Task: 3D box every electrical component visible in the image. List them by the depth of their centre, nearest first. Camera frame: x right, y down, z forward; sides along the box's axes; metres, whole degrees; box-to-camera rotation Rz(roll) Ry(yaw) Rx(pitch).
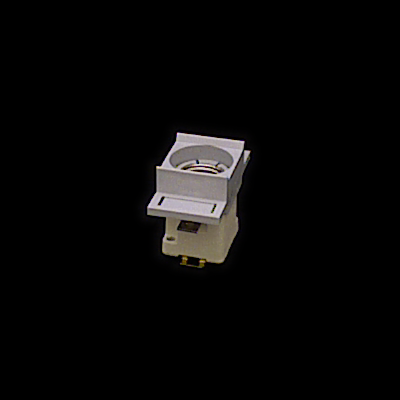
[{"bbox_3d":[0.000,0.000,0.635,0.042,0.065,0.080,8,32,13],"label":"electrical component"}]
